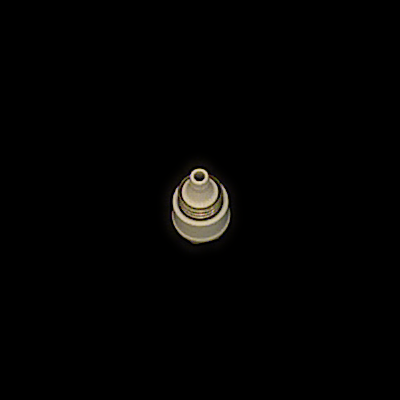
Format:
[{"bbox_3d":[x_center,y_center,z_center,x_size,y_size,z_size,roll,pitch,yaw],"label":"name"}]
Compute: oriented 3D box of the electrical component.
[{"bbox_3d":[0.000,0.000,0.637,0.035,0.035,0.061,0,-28,1],"label":"electrical component"}]
